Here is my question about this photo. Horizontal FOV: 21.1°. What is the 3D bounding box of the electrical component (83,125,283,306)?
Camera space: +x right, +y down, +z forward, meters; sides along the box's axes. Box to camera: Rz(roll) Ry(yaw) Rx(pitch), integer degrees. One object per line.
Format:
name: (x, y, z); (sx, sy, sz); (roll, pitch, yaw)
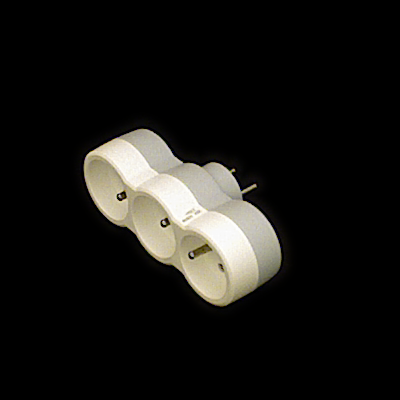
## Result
electrical component: (0.000, 0.000, 0.642); (0.074, 0.052, 0.136); (-30, 51, -31)
